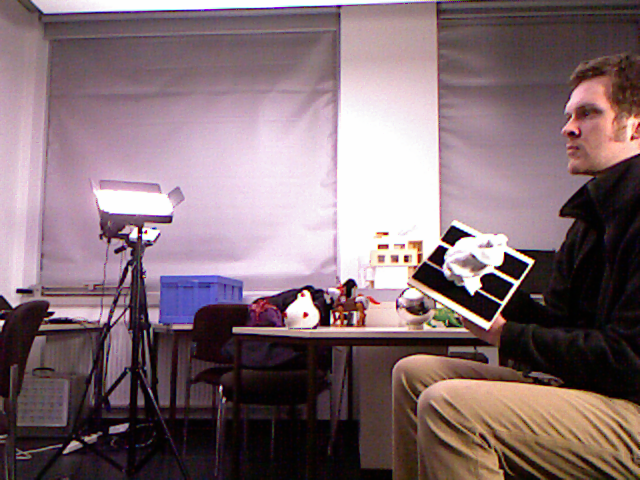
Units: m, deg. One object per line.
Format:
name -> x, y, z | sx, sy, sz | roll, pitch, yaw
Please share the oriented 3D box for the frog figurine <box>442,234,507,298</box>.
frog figurine -> 0.333, 0.034, 1.120 | 0.138, 0.125, 0.156 | -30, -31, -11
